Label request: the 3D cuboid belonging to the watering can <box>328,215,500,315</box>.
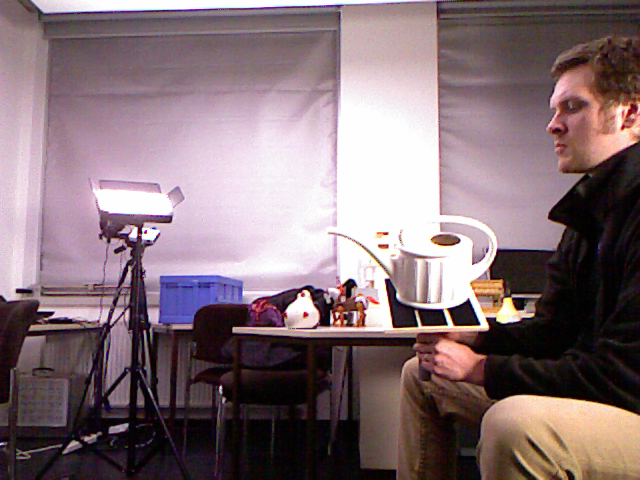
[{"bbox_3d":[0.192,0.049,1.070,0.348,0.220,0.106,-1,29,1],"label":"watering can"}]
